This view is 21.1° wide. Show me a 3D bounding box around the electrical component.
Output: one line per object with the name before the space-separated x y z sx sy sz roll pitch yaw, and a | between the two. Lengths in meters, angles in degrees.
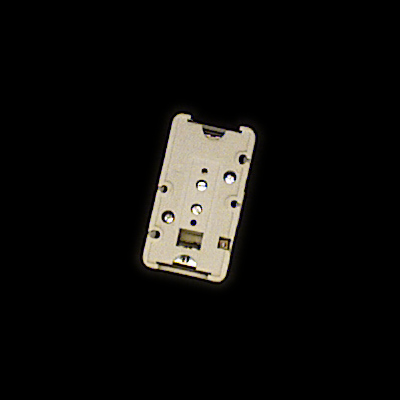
electrical component | 0.000 0.000 0.637 0.050 0.090 0.055 12 -5 1
